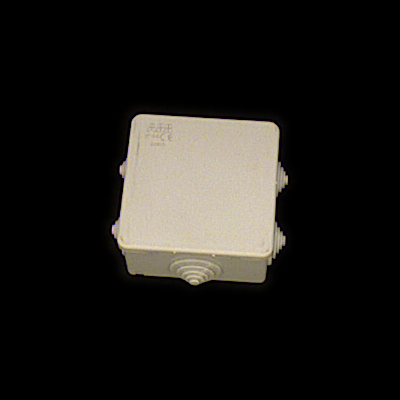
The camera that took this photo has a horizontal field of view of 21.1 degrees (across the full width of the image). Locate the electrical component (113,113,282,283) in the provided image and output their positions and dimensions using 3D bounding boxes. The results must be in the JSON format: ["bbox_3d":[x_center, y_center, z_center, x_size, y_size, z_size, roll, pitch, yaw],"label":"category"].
[{"bbox_3d":[0.000,0.000,0.640,0.100,0.100,0.048,4,-26,2],"label":"electrical component"}]
